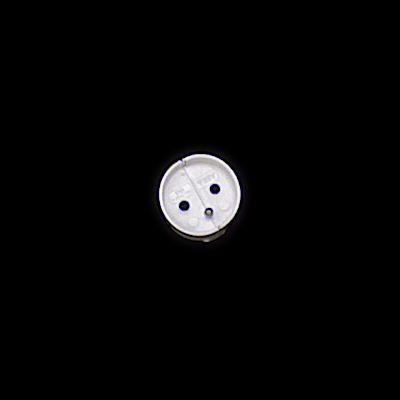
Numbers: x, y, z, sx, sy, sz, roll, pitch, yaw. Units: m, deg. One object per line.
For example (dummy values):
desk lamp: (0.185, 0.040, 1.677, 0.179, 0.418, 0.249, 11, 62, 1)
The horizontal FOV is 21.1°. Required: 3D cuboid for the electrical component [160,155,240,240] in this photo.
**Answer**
electrical component: (0.000, 0.000, 0.615, 0.043, 0.043, 0.080, 0, -5, 0)
